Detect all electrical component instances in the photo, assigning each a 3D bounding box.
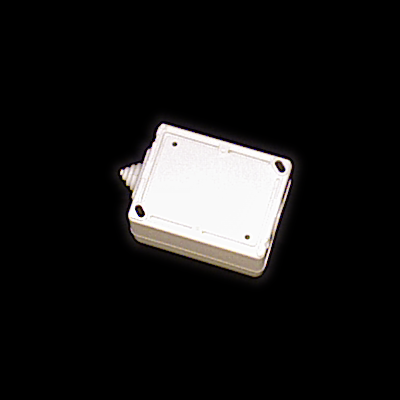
[{"bbox_3d":[0.000,0.000,0.629,0.096,0.062,0.060,16,-16,6],"label":"electrical component"}]
